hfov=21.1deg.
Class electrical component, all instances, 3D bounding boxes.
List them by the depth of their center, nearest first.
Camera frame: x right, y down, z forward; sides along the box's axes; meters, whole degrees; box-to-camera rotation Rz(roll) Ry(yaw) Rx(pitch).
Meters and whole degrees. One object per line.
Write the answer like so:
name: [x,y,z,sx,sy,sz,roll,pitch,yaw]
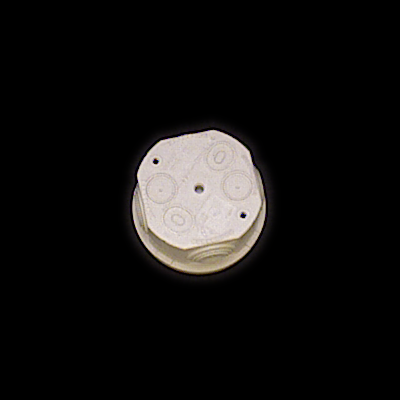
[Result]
electrical component: [0.000,0.000,0.632,0.080,0.080,0.050,0,-17,-1]
